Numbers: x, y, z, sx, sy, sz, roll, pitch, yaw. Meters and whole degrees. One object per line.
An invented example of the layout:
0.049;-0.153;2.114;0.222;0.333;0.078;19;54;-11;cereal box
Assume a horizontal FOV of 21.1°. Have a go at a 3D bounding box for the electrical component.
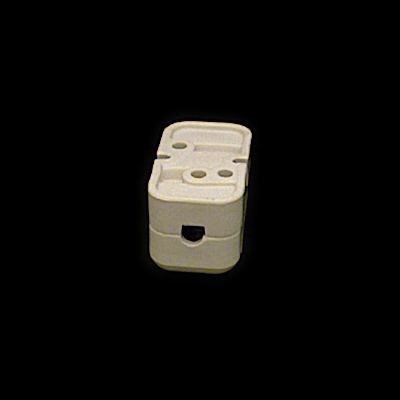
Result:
0.000;0.000;0.643;0.053;0.060;0.094;4;32;5;electrical component
